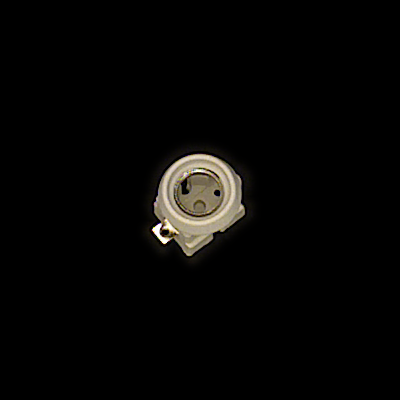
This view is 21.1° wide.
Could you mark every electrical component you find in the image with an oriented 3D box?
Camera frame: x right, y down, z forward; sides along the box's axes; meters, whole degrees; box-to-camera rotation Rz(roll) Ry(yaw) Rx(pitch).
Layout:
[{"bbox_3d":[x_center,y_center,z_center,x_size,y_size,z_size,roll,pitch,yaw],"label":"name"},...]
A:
[{"bbox_3d":[0.000,0.000,0.637,0.067,0.048,0.055,-38,-15,-10],"label":"electrical component"}]
